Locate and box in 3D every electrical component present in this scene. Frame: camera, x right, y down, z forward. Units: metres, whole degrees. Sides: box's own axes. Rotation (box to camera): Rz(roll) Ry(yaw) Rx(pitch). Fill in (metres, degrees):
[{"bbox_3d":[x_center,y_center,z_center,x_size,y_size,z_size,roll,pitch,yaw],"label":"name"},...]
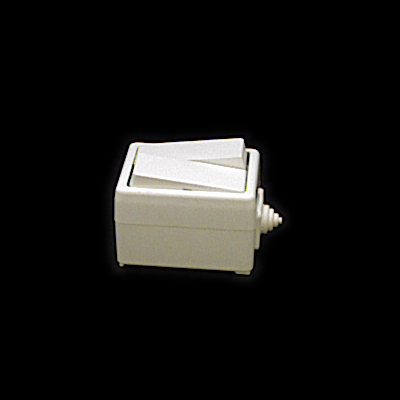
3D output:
[{"bbox_3d":[0.000,0.000,0.634,0.096,0.061,0.061,3,31,4],"label":"electrical component"}]
